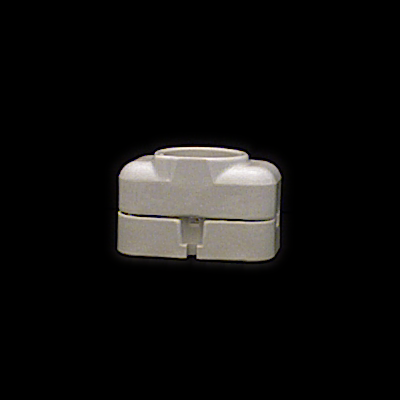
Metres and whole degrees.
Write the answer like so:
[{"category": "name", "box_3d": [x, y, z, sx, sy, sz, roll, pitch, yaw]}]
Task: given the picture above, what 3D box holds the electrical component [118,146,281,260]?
[{"category": "electrical component", "box_3d": [0.000, 0.000, 0.649, 0.095, 0.060, 0.053, 3, 11, 9]}]
